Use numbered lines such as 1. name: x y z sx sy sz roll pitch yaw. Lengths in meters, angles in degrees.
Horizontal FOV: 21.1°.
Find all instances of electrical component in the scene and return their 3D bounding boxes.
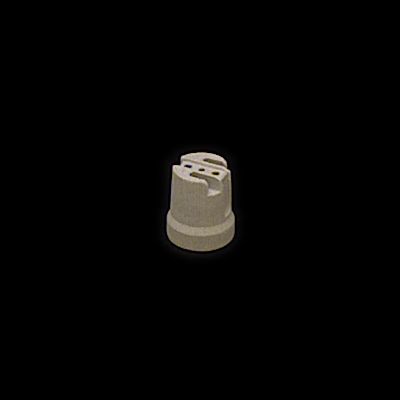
1. electrical component: 0.000 0.000 0.637 0.040 0.046 0.040 0 32 0
